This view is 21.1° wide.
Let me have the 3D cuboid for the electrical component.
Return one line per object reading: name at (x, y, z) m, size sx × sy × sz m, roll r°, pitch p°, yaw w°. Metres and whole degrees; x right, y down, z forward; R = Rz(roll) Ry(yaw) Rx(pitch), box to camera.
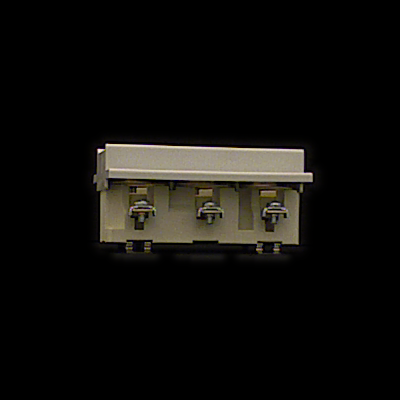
electrical component at (0.000, 0.000, 0.663) m, size 0.122 × 0.063 × 0.078 m, roll 1°, pitch -1°, yaw -12°
